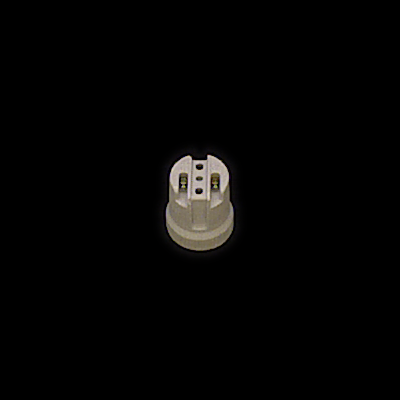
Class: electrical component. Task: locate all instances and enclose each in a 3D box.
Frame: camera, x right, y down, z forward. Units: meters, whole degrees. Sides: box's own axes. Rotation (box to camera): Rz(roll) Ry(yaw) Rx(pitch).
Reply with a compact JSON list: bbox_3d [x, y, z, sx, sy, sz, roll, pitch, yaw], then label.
[{"bbox_3d":[0.000,0.000,0.633,0.040,0.040,0.046,0,-38,0],"label":"electrical component"}]
